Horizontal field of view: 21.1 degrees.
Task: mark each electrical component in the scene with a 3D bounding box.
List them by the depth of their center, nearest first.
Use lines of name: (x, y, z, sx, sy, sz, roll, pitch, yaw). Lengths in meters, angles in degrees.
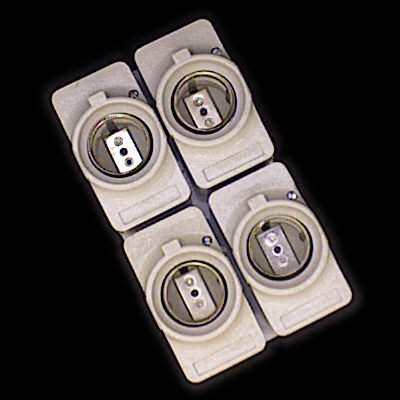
electrical component: (0.000, 0.000, 0.626, 0.106, 0.186, 0.060, -27, -6, -3)
